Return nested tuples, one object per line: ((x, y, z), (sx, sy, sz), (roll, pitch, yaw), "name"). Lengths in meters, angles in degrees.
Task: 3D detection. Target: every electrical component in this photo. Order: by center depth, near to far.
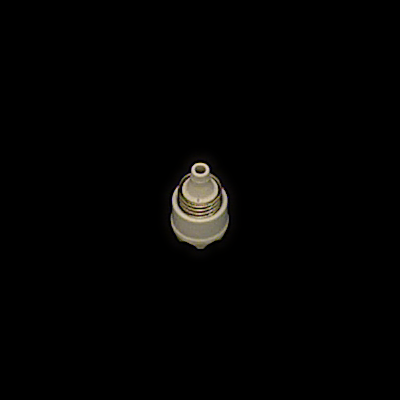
((0.000, 0.000, 0.641), (0.035, 0.035, 0.062), (0, -36, -1), "electrical component")
